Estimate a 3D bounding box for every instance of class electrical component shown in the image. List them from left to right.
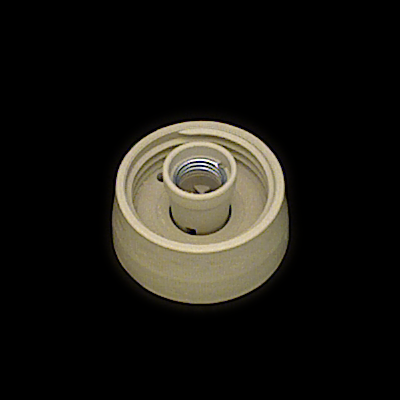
[{"bbox_3d":[0.000,0.000,0.636,0.108,0.107,0.060,0,-37,0],"label":"electrical component"}]
